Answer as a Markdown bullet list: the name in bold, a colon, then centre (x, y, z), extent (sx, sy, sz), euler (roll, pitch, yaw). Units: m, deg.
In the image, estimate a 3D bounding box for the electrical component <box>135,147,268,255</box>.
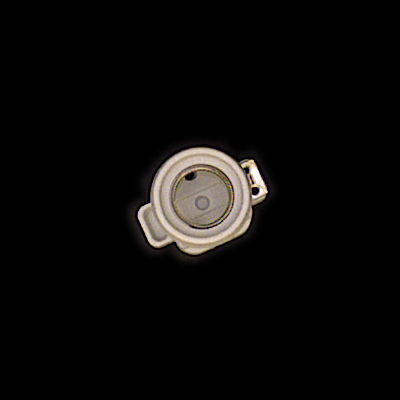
- **electrical component**: centre (0.000, 0.000, 0.630), extent (0.078, 0.058, 0.056), euler (-25, -6, -2)
